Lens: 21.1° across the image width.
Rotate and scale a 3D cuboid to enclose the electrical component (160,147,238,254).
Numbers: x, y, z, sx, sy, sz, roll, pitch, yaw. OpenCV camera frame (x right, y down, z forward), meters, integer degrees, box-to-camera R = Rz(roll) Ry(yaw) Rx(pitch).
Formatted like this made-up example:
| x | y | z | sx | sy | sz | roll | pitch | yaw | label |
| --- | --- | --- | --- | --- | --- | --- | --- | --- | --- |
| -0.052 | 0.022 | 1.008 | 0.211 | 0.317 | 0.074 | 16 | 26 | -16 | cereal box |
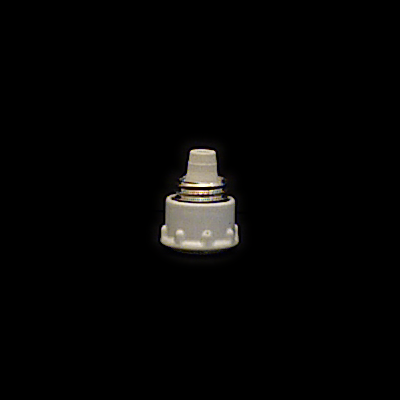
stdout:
| x | y | z | sx | sy | sz | roll | pitch | yaw | label |
| --- | --- | --- | --- | --- | --- | --- | --- | --- | --- |
| 0.000 | 0.000 | 0.651 | 0.048 | 0.062 | 0.048 | 2 | 13 | 0 | electrical component |
